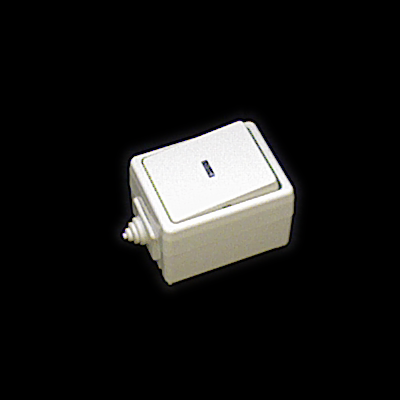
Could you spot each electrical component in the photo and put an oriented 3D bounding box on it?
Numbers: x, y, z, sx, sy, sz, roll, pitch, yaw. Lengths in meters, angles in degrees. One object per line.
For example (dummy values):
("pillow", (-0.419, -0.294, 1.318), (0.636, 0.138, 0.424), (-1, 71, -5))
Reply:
("electrical component", (0.000, 0.000, 0.627), (0.096, 0.061, 0.061), (-18, -36, -14))
